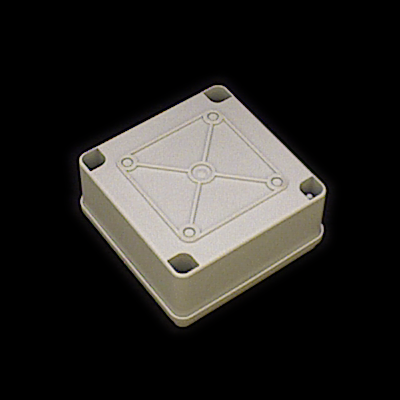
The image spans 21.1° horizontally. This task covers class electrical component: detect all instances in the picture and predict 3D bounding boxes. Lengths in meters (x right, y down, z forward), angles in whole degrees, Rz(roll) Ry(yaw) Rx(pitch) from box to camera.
[{"bbox_3d":[0.000,0.000,0.630,0.109,0.108,0.056,-30,-31,-21],"label":"electrical component"}]
